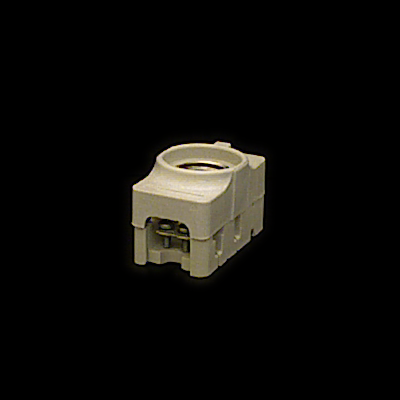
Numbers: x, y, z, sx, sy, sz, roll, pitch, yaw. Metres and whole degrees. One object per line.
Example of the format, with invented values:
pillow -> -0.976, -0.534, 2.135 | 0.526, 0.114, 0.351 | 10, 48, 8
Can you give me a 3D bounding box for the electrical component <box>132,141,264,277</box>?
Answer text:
electrical component -> 0.000, 0.000, 0.646 | 0.050, 0.056, 0.089 | 11, 24, 23
